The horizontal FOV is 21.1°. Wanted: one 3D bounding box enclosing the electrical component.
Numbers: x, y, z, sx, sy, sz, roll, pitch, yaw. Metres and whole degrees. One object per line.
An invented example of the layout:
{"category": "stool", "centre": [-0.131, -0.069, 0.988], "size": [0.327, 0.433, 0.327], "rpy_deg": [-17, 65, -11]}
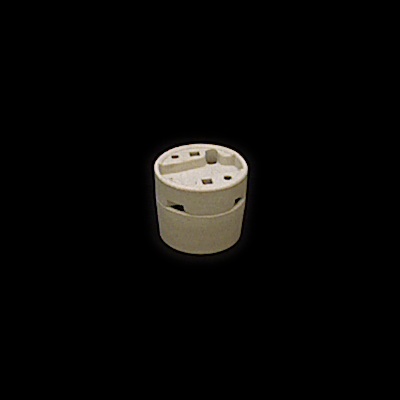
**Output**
{"category": "electrical component", "centre": [0.000, 0.000, 0.637], "size": [0.055, 0.047, 0.055], "rpy_deg": [1, 31, 0]}
